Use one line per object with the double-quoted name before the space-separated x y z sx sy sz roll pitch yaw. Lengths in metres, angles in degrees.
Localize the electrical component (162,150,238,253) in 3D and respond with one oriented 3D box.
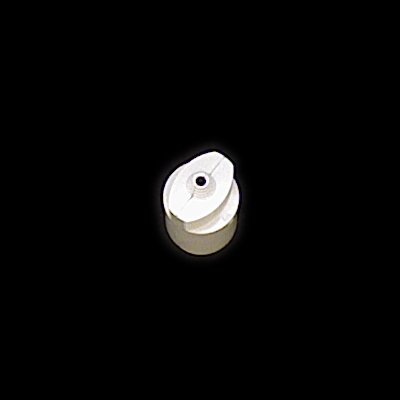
"electrical component" 0.000 0.000 0.616 0.043 0.043 0.080 0 -17 1
